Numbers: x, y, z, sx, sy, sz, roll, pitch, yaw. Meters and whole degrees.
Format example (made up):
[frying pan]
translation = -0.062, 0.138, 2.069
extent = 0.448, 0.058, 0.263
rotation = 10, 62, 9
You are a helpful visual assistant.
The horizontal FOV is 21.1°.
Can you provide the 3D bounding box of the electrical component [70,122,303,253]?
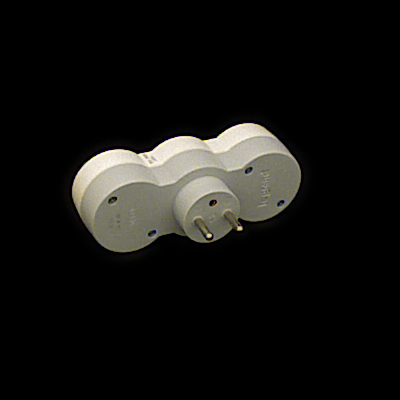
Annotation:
[electrical component]
translation = 0.000, 0.000, 0.641
extent = 0.139, 0.053, 0.072
rotation = -13, 36, -21
